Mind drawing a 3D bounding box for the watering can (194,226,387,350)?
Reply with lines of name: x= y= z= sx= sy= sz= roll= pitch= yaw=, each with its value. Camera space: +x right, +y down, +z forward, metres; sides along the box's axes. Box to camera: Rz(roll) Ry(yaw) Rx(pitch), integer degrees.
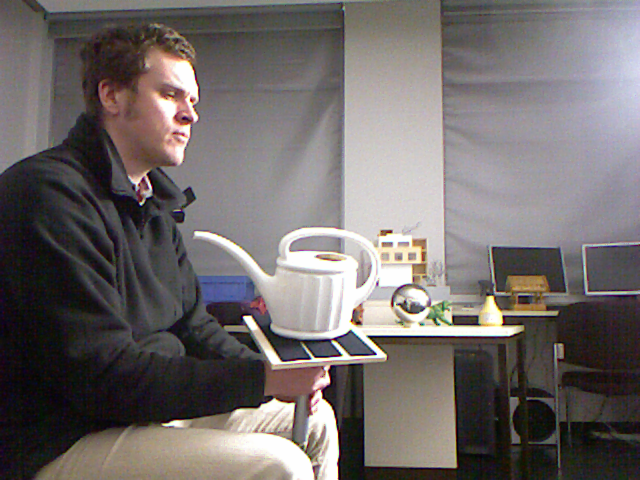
watering can: x=-0.049 y=0.081 z=0.897 sx=0.348 sy=0.222 sz=0.105 roll=3 pitch=15 yaw=-19
